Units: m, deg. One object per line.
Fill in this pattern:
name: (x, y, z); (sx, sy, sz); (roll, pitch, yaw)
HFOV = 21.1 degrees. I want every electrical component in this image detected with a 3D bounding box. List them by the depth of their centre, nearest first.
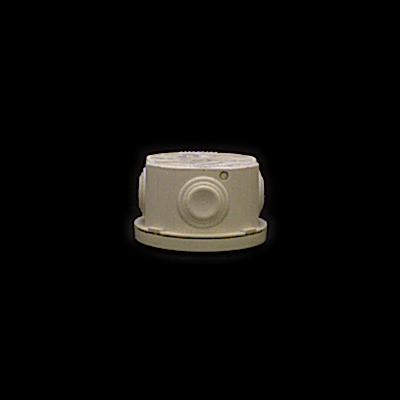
electrical component: (0.000, 0.000, 0.646); (0.080, 0.051, 0.079); (1, 10, 0)
